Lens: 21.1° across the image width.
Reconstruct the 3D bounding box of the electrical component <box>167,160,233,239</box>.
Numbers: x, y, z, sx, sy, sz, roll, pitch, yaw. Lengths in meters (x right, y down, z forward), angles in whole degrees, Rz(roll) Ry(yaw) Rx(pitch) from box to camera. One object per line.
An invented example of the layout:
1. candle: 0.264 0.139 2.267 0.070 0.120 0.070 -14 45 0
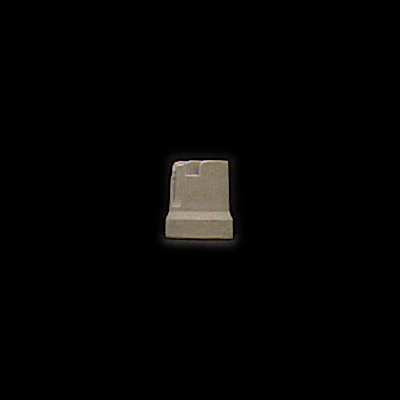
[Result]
1. electrical component: 0.000 0.000 0.650 0.040 0.046 0.040 1 1 0
